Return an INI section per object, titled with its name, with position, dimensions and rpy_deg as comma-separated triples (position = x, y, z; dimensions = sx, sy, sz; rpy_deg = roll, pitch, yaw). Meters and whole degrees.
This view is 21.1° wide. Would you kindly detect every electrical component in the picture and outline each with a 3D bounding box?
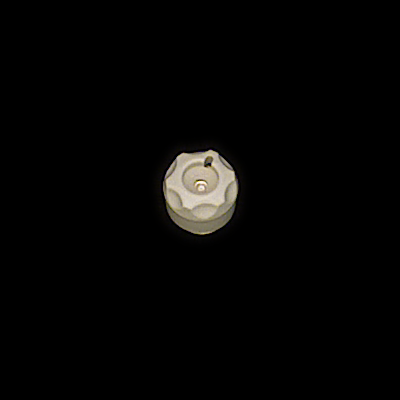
[electrical component]
position = 0.000, 0.000, 0.633
dimensions = 0.043, 0.043, 0.062
rpy_deg = 0, -26, 0
